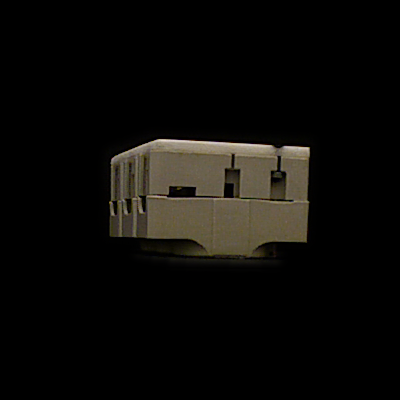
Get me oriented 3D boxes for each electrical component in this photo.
[{"bbox_3d":[0.000,0.000,0.654,0.089,0.062,0.150,1,0,-14],"label":"electrical component"}]
